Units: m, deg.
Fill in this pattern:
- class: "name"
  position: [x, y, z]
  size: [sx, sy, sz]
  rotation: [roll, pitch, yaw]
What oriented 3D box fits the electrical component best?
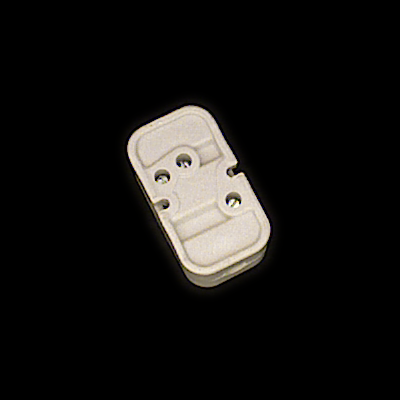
- class: "electrical component"
  position: [0.000, 0.000, 0.634]
  size: [0.054, 0.095, 0.059]
  rotation: [-26, -14, -7]
